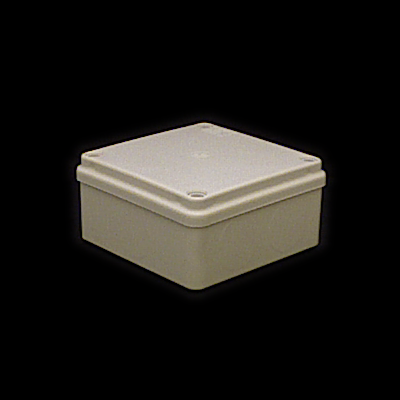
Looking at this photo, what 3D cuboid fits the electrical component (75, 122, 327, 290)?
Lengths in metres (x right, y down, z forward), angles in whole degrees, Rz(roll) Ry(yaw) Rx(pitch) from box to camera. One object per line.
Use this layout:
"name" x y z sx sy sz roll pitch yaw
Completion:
"electrical component" 0.000 0.000 0.638 0.108 0.057 0.107 -18 28 -40
